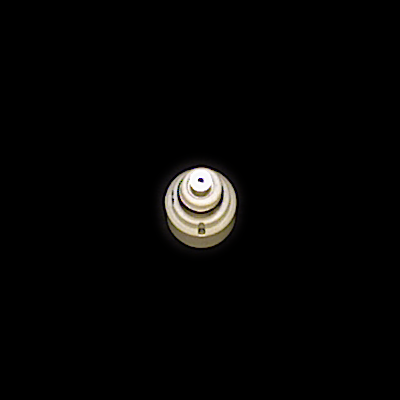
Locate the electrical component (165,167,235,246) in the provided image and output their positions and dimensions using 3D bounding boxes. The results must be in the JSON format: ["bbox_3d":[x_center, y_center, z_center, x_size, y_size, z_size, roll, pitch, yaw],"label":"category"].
[{"bbox_3d":[0.000,0.000,0.618,0.040,0.040,0.078,0,-16,0],"label":"electrical component"}]
